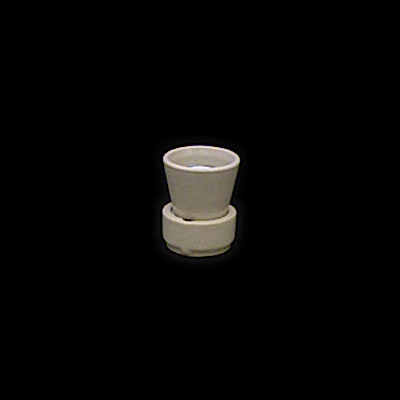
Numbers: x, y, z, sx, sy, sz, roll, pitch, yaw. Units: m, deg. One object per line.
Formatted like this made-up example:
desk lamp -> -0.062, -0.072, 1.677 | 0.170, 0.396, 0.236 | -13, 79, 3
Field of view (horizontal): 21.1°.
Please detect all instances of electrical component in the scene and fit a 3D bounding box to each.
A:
electrical component -> 0.000, 0.000, 0.641 | 0.045, 0.056, 0.044 | 1, 22, 0
